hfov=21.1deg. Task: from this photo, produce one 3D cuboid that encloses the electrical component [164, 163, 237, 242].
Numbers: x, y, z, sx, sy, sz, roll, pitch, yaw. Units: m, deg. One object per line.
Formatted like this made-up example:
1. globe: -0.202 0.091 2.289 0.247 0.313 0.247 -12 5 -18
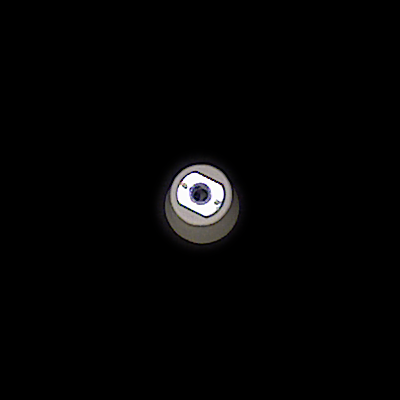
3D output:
1. electrical component: 0.000 0.000 0.626 0.044 0.044 0.065 0 -7 0
